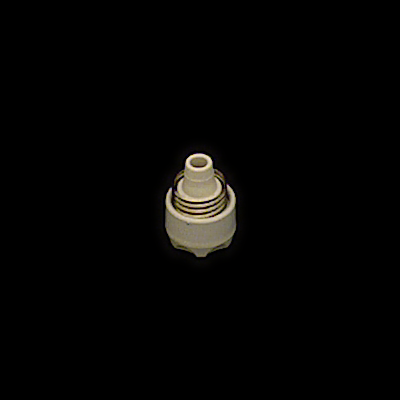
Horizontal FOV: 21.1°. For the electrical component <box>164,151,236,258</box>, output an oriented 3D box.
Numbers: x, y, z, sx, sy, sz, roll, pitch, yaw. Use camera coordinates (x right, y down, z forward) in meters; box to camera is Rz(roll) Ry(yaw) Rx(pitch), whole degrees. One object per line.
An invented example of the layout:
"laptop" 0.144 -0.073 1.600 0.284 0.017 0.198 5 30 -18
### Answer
"electrical component" 0.000 0.000 0.638 0.043 0.062 0.043 0 43 1
